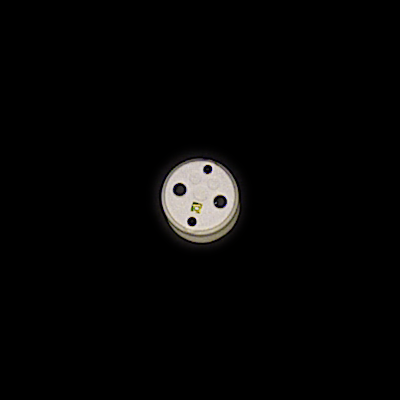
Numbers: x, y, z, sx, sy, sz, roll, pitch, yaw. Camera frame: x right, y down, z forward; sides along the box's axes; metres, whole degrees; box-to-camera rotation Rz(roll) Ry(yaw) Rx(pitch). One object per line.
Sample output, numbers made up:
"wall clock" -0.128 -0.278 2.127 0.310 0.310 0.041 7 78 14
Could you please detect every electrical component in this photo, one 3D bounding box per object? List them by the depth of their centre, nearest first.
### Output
"electrical component" 0.000 0.000 0.630 0.045 0.045 0.055 0 -7 1
